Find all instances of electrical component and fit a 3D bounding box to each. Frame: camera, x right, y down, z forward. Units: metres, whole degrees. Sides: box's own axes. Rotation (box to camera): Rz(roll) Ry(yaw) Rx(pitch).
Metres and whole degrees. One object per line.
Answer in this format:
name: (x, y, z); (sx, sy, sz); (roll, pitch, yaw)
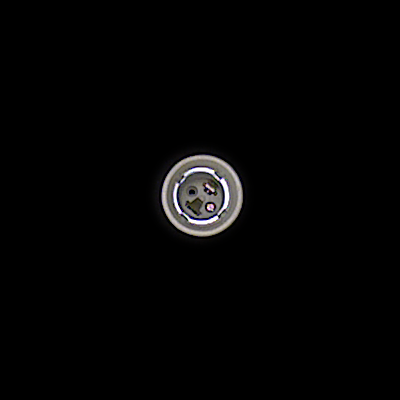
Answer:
electrical component: (0.000, 0.000, 0.624); (0.044, 0.044, 0.065); (0, -6, 0)
